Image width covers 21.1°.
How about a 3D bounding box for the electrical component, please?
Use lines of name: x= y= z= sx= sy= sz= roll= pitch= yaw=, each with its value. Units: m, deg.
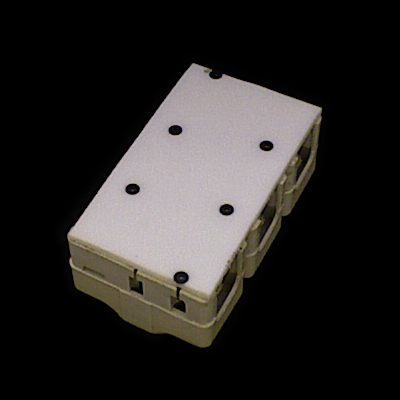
electrical component: x=0.000 y=0.000 z=0.631 sx=0.089 sy=0.149 sz=0.062 roll=22 pitch=-34 yaw=16
